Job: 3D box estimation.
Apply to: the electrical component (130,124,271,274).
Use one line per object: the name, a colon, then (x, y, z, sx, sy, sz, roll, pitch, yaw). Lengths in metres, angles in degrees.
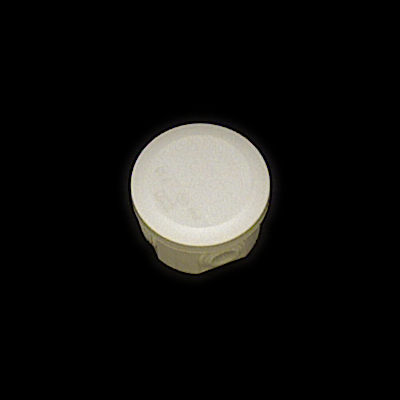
electrical component: (0.000, 0.000, 0.631, 0.080, 0.080, 0.050, 0, -28, 0)
